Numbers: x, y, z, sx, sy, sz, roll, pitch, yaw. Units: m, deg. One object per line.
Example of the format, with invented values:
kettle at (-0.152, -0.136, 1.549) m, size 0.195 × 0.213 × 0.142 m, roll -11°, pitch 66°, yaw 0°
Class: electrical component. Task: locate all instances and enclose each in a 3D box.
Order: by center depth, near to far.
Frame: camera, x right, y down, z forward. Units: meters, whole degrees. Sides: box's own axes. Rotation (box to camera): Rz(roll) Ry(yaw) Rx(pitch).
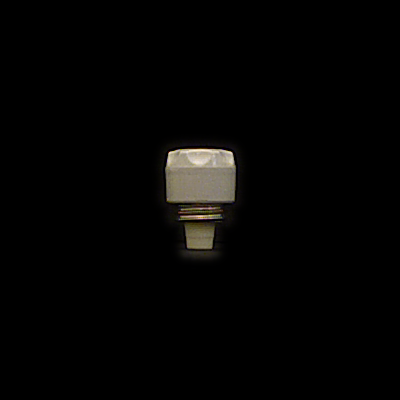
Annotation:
electrical component at (0.000, 0.000, 0.656) m, size 0.043 × 0.062 × 0.043 m, roll 1°, pitch 2°, yaw 1°
